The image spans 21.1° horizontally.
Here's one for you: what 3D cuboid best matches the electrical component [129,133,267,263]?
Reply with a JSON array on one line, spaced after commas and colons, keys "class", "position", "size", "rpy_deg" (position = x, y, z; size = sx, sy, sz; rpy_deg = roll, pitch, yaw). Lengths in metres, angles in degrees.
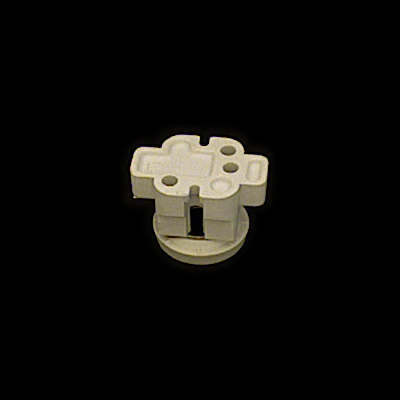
[{"class": "electrical component", "position": [0.000, 0.000, 0.638], "size": [0.078, 0.057, 0.057], "rpy_deg": [3, 43, 5]}]
